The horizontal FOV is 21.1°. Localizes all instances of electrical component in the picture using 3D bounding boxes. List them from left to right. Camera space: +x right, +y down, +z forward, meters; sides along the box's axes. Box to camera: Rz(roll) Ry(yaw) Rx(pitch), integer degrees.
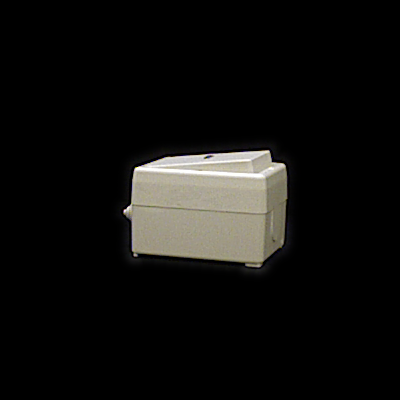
[{"bbox_3d":[0.000,0.000,0.645,0.096,0.061,0.061,4,11,16],"label":"electrical component"}]
